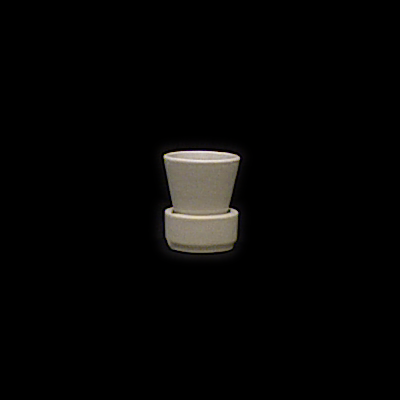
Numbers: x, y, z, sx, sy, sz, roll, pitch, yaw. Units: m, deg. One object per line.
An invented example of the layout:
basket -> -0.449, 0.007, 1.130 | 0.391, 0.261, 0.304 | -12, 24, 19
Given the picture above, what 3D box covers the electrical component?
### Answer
electrical component -> 0.000, 0.000, 0.644 | 0.045, 0.055, 0.044 | 1, 11, 0
